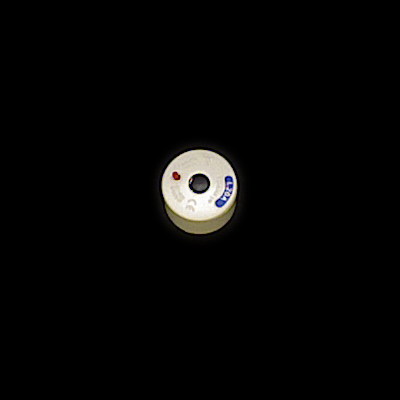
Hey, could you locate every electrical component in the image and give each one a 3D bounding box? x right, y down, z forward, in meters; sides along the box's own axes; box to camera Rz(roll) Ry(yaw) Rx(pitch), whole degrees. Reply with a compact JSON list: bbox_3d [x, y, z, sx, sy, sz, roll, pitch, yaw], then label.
[{"bbox_3d":[0.000,0.000,0.617,0.040,0.040,0.078,0,-17,1],"label":"electrical component"}]
